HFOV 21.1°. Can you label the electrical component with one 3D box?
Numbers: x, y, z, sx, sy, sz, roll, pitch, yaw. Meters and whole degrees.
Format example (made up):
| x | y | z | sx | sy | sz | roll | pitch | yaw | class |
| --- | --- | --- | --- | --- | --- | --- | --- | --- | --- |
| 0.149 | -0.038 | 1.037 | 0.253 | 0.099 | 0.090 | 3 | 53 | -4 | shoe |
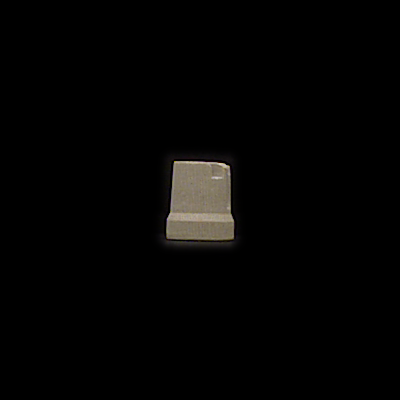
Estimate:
| x | y | z | sx | sy | sz | roll | pitch | yaw | class |
| --- | --- | --- | --- | --- | --- | --- | --- | --- | --- |
| 0.000 | 0.000 | 0.649 | 0.040 | 0.046 | 0.040 | 1 | 2 | 0 | electrical component |
